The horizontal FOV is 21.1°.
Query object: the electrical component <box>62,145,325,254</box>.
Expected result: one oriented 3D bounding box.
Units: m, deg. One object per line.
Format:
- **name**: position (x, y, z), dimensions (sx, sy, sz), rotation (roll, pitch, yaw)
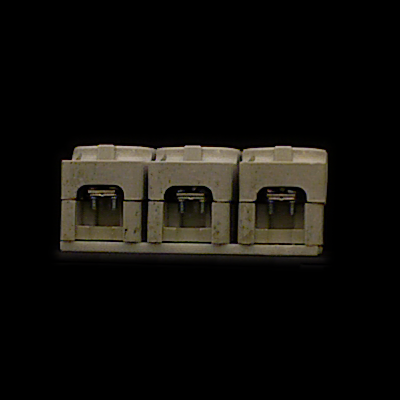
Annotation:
- **electrical component**: position (0.000, 0.000, 0.655), dimensions (0.150, 0.062, 0.089), rotation (1, 0, 7)
